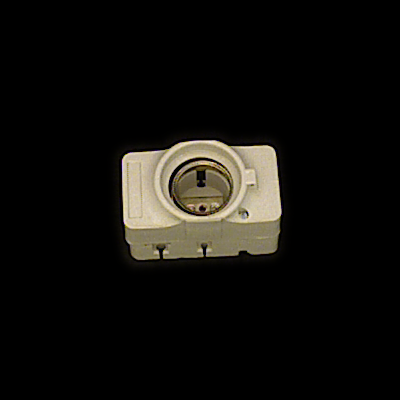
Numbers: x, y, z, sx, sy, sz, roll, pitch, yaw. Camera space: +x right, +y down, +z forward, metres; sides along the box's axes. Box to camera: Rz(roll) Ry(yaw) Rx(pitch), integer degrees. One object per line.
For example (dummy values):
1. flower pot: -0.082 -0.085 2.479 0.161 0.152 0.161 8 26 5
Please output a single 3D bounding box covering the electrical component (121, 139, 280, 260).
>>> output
1. electrical component: 0.000 0.000 0.635 0.090 0.050 0.055 -4 -26 -2
